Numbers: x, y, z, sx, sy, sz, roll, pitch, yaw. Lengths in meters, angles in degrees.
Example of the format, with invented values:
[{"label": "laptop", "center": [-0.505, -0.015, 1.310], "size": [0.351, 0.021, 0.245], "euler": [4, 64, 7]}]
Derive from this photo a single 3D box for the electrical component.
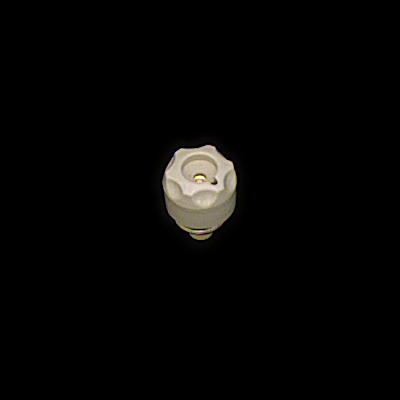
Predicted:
[{"label": "electrical component", "center": [0.000, 0.000, 0.635], "size": [0.043, 0.043, 0.062], "euler": [0, -38, 1]}]
